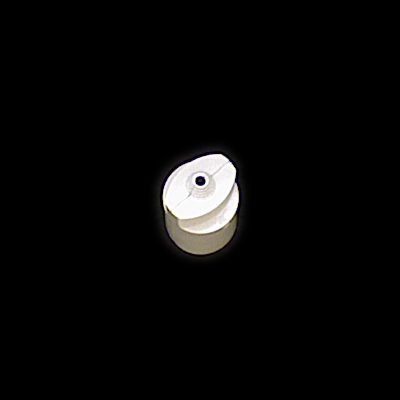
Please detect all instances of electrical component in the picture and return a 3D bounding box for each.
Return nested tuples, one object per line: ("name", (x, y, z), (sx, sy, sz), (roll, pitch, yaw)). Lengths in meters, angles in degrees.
("electrical component", (0.000, 0.000, 0.616), (0.043, 0.043, 0.080), (0, -17, 1))
